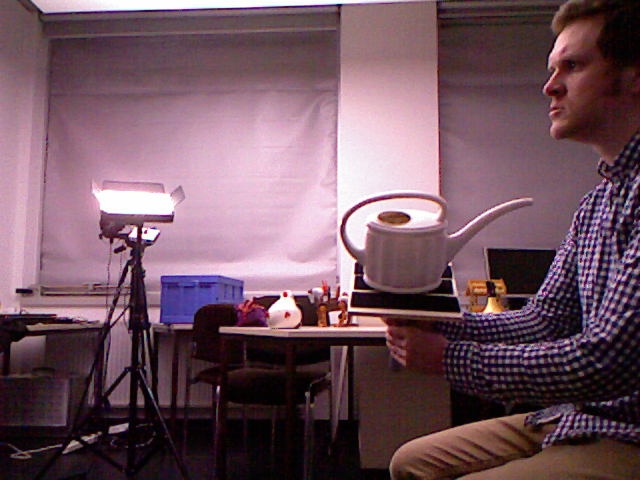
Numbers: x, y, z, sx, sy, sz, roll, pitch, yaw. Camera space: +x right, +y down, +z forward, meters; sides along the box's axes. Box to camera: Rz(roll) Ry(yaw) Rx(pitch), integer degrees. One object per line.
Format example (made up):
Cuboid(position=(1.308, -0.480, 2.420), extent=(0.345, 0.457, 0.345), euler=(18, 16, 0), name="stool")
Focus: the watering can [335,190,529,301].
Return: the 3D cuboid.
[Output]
Cuboid(position=(0.202, 0.010, 0.967), extent=(0.348, 0.220, 0.106), euler=(1, 30, 2), name="watering can")
